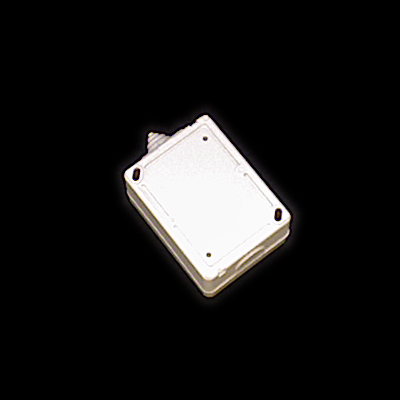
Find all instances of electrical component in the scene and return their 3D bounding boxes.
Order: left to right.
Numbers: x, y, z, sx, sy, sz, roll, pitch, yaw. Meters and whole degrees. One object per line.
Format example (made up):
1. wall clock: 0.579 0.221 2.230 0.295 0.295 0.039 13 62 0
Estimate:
1. electrical component: 0.000 0.000 0.629 0.062 0.096 0.060 -36 -14 -10
